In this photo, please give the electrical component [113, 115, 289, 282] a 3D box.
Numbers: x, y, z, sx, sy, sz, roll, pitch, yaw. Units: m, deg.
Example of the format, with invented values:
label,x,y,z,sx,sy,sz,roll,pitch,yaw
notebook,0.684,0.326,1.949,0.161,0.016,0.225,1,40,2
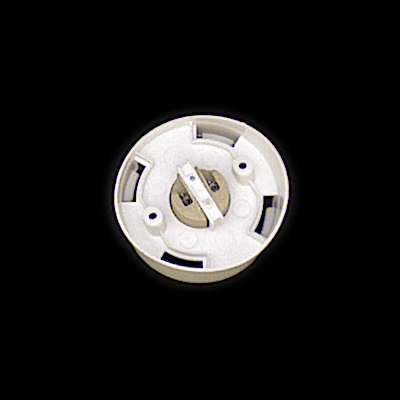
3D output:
label,x,y,z,sx,sy,sz,roll,pitch,yaw
electrical component,0.000,0.000,0.623,0.099,0.099,0.064,0,-16,-1
